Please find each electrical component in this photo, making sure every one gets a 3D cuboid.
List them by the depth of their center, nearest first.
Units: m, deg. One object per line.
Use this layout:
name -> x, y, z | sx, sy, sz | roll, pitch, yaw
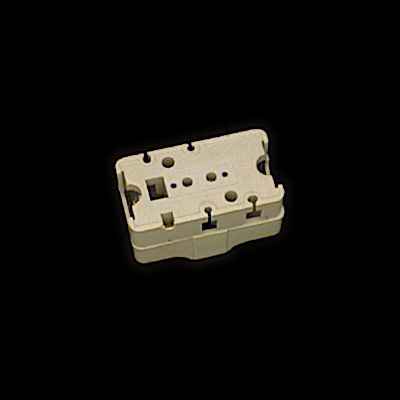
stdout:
electrical component -> 0.000, 0.000, 0.636 | 0.090, 0.050, 0.055 | -13, -25, -6
